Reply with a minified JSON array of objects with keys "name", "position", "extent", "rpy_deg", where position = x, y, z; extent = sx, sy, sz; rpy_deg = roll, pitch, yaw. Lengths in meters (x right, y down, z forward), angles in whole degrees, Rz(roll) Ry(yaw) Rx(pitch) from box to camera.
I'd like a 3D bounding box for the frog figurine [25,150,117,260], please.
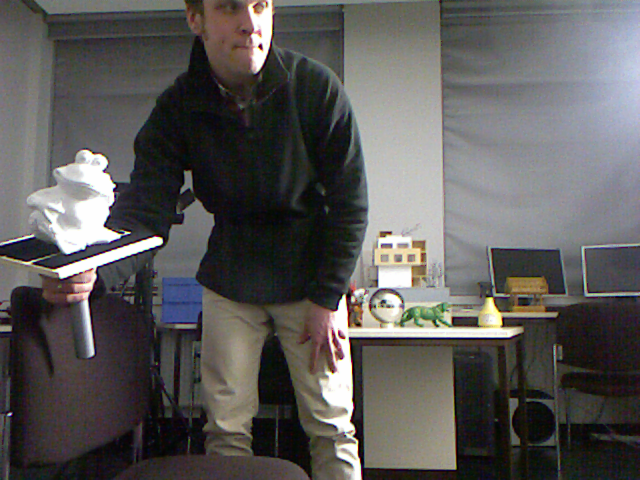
[{"name":"frog figurine","position":[-0.400,-0.067,0.831],"extent":[0.139,0.157,0.124],"rpy_deg":[-15,25,-42]}]
